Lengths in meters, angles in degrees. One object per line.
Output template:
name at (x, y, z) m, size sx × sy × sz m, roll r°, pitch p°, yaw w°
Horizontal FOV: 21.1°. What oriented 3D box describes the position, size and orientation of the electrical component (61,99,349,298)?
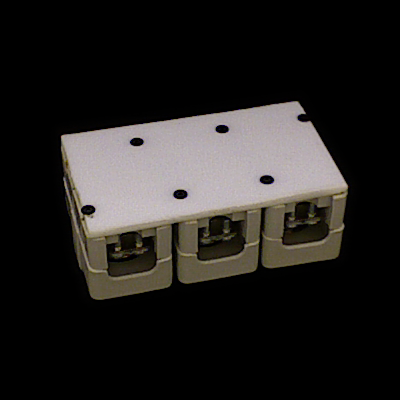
electrical component at (0.000, 0.000, 0.639) m, size 0.150 × 0.063 × 0.087 m, roll -9°, pitch 43°, yaw -11°
